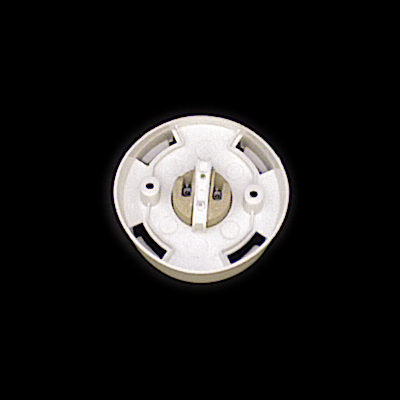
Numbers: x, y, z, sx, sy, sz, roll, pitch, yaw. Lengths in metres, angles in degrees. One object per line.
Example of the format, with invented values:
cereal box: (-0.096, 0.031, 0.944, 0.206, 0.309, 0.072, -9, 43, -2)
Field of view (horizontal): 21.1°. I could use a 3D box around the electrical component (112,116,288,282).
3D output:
electrical component: (0.000, 0.000, 0.623, 0.099, 0.099, 0.064, 0, -16, 0)
